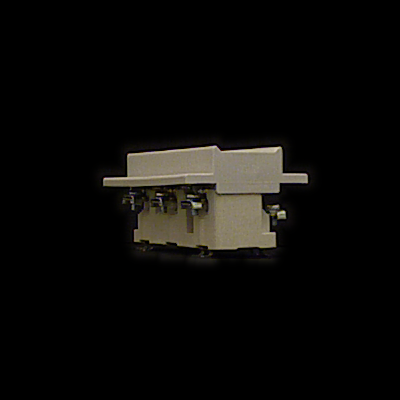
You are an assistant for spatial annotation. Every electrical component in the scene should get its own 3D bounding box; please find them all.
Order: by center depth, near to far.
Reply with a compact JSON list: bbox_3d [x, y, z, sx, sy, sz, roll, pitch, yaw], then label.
[{"bbox_3d":[0.000,0.000,0.660,0.079,0.063,0.121,-1,2,-27],"label":"electrical component"}]
